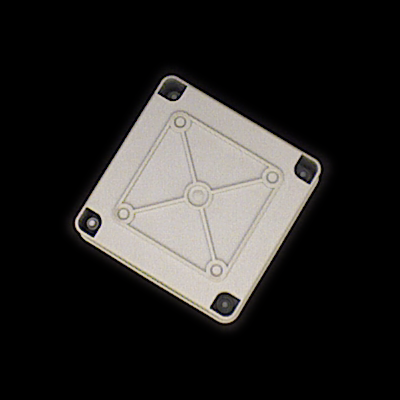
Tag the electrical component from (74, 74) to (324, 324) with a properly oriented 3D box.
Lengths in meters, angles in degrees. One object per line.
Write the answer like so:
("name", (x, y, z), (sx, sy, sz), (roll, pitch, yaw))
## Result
("electrical component", (0.000, 0.000, 0.628), (0.109, 0.109, 0.056), (31, -6, 4))
